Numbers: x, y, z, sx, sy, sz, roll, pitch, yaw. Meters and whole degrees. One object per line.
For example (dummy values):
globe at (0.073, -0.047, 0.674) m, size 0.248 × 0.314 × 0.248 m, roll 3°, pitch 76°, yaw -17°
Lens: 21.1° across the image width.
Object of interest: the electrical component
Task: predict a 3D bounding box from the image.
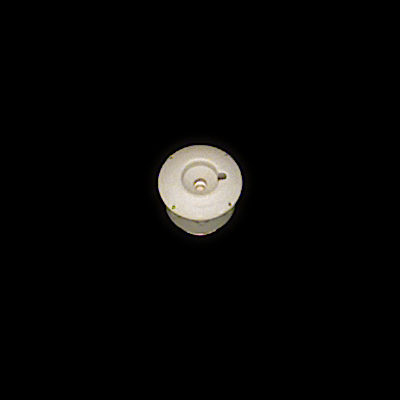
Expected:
electrical component at (0.000, 0.000, 0.635) m, size 0.048 × 0.048 × 0.062 m, roll 0°, pitch -27°, yaw 0°
